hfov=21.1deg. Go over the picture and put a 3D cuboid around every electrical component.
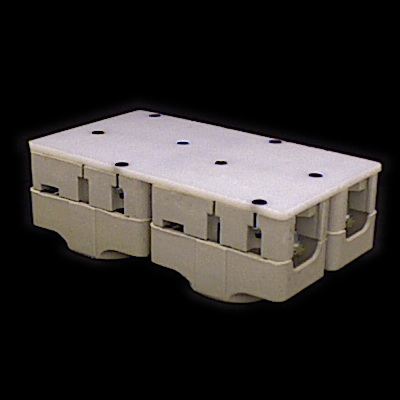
[{"bbox_3d":[0.000,0.000,0.638,0.185,0.061,0.105,16,25,34],"label":"electrical component"}]
